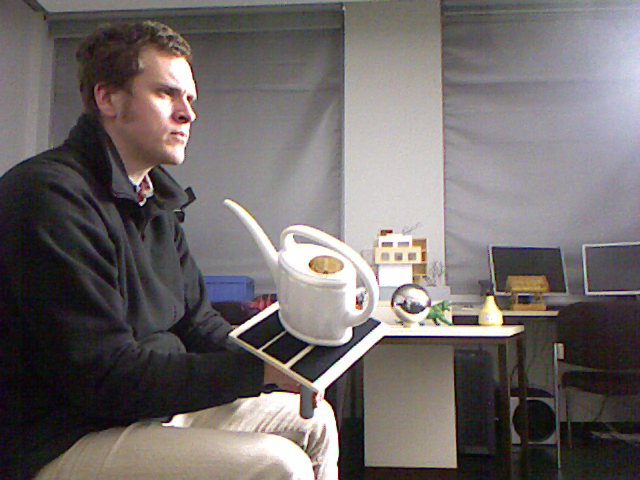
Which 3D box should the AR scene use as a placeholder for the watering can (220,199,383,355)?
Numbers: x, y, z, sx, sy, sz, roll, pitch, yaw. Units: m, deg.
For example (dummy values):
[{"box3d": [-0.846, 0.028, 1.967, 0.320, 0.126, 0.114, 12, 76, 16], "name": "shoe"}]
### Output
[{"box3d": [-0.042, 0.063, 0.889, 0.351, 0.220, 0.106, 25, 38, 32], "name": "watering can"}]
